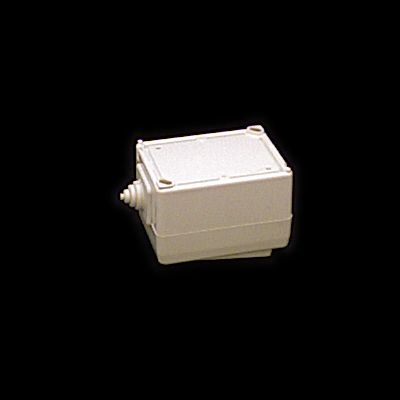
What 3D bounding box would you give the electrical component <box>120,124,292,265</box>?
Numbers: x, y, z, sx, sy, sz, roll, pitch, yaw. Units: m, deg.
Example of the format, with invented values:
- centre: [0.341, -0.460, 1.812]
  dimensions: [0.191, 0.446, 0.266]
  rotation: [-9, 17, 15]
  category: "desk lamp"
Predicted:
- centre: [0.000, 0.000, 0.637]
  dimensions: [0.096, 0.061, 0.061]
  rotation: [-8, 32, -13]
  category: "electrical component"
